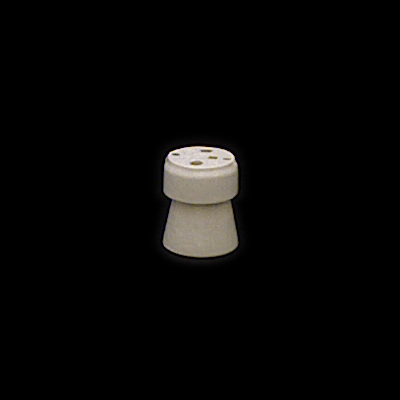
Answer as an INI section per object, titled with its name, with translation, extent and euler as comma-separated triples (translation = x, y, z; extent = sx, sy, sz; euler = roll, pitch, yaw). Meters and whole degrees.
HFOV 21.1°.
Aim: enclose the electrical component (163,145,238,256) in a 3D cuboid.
[electrical component]
translation = 0.000, 0.000, 0.638
extent = 0.045, 0.056, 0.044
euler = 0, 22, 0
